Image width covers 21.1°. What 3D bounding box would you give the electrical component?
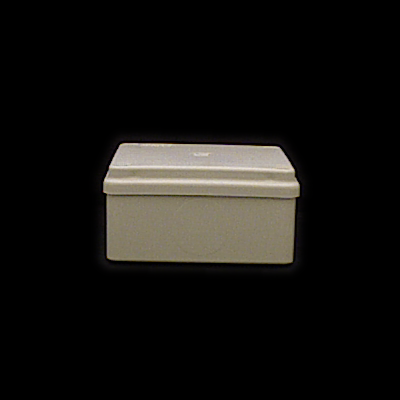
[{"bbox_3d":[0.000,0.000,0.643,0.109,0.056,0.108,1,11,-1],"label":"electrical component"}]
